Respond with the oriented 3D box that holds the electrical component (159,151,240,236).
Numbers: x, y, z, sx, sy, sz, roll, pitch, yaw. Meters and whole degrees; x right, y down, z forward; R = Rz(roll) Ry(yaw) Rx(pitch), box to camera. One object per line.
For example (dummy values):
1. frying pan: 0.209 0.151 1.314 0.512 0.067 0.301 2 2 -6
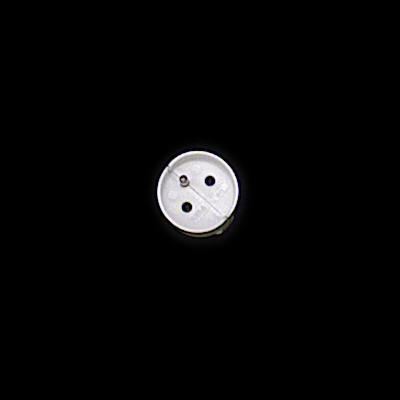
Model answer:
1. electrical component: 0.000 0.000 0.615 0.043 0.043 0.080 0 -7 0
